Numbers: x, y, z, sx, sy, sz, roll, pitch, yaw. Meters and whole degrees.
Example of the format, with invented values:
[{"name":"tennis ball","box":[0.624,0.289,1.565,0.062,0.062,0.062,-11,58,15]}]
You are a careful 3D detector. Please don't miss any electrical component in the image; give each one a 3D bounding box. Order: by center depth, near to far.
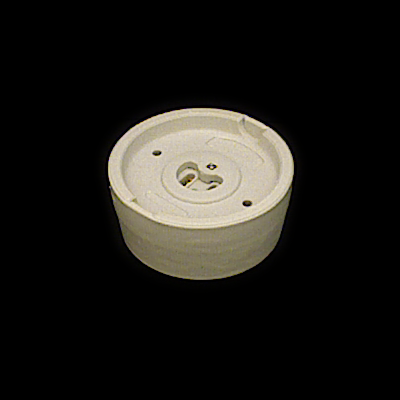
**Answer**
[{"name":"electrical component","box":[0.000,0.000,0.641,0.108,0.061,0.106,1,43,0]}]
